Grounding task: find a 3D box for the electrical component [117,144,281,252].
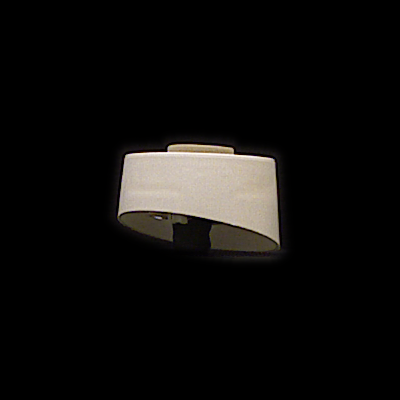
[{"bbox_3d":[0.000,0.000,0.649,0.099,0.064,0.099,2,0,0],"label":"electrical component"}]
